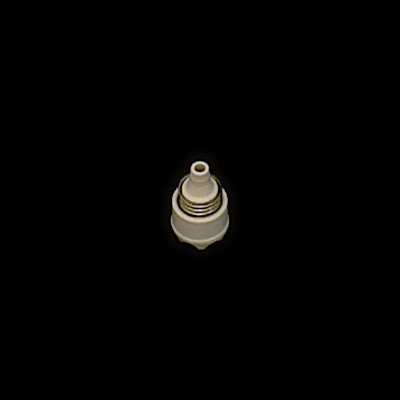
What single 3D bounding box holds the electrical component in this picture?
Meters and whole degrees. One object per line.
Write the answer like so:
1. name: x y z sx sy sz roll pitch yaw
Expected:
1. electrical component: 0.000 0.000 0.639 0.035 0.035 0.062 0 -38 -1
